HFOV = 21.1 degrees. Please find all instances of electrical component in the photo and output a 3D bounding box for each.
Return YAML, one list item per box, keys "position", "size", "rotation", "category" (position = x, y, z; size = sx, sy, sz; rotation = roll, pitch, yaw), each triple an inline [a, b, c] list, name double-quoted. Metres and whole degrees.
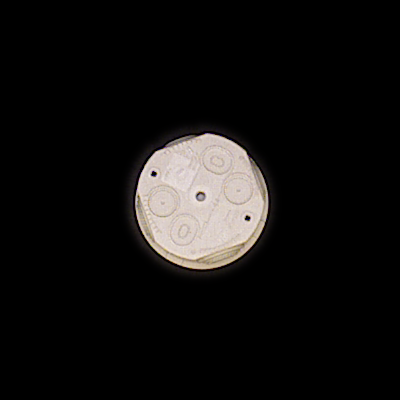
- position: [0.000, 0.000, 0.633]
  size: [0.080, 0.080, 0.050]
  rotation: [0, -7, 1]
  category: "electrical component"
